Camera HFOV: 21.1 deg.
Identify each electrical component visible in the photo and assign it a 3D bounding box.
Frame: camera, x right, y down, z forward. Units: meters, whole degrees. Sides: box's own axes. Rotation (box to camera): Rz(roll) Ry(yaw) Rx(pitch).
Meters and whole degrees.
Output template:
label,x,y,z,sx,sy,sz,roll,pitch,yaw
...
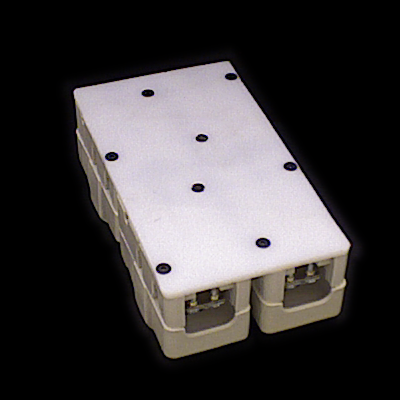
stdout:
label,x,y,z,sx,sy,sz,roll,pitch,yaw
electrical component,0.000,0.000,0.630,0.105,0.061,0.184,-13,44,-15
